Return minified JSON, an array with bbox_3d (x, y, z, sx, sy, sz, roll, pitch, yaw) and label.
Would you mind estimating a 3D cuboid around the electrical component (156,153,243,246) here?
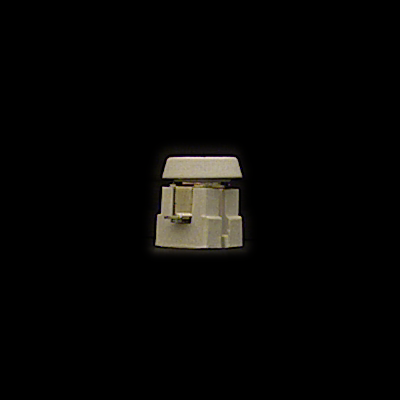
[{"bbox_3d":[0.000,0.000,0.655,0.048,0.055,0.067,0,0,30],"label":"electrical component"}]
